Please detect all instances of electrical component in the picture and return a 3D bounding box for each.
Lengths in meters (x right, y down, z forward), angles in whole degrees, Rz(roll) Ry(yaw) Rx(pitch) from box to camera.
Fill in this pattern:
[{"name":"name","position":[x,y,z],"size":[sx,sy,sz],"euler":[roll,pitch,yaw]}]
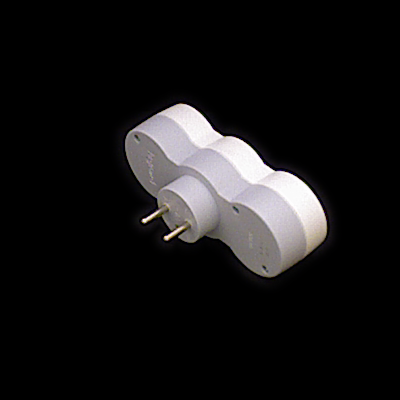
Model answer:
[{"name":"electrical component","position":[0.000,0.000,0.632],"size":[0.073,0.052,0.137],"euler":[-33,53,-29]}]
